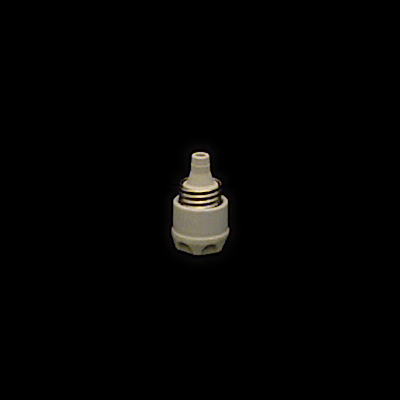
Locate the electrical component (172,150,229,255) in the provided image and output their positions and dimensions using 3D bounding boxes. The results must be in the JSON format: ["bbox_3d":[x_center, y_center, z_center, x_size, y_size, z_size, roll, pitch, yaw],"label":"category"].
[{"bbox_3d":[0.000,0.000,0.652,0.035,0.062,0.034,0,23,0],"label":"electrical component"}]
